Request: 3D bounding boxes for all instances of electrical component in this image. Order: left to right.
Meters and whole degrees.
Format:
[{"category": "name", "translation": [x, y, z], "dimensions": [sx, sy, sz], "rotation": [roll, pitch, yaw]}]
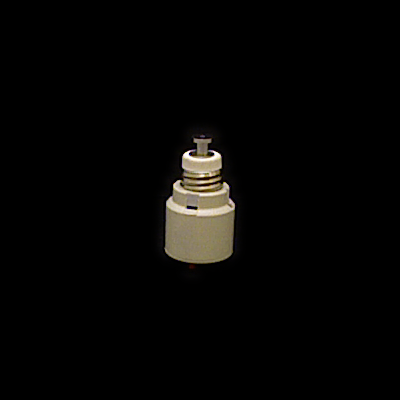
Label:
[{"category": "electrical component", "translation": [0.000, 0.000, 0.636], "dimensions": [0.040, 0.079, 0.039], "rotation": [2, 21, 0]}]
